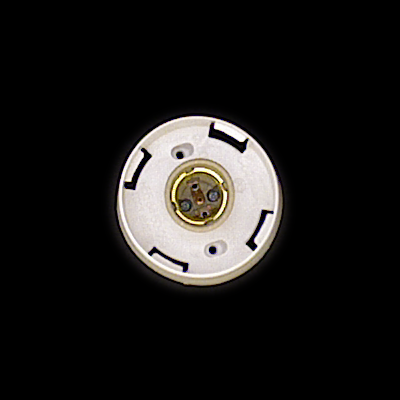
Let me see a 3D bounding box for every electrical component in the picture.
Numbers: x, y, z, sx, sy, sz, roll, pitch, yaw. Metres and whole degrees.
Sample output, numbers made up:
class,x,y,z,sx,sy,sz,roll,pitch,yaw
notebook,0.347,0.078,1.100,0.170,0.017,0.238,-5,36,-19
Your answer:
class,x,y,z,sx,sy,sz,roll,pitch,yaw
electrical component,0.000,0.000,0.625,0.099,0.099,0.064,0,-7,0
